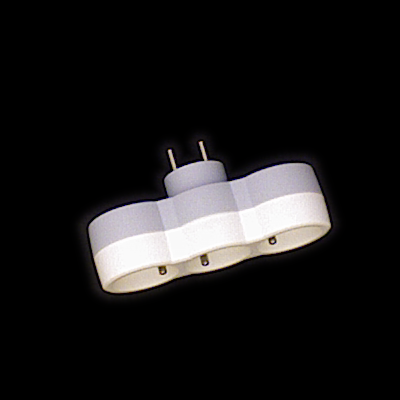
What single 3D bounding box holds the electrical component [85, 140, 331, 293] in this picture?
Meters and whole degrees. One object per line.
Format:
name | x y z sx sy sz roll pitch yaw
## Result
electrical component | 0.000 0.000 0.630 0.138 0.074 0.052 -15 -18 -4
